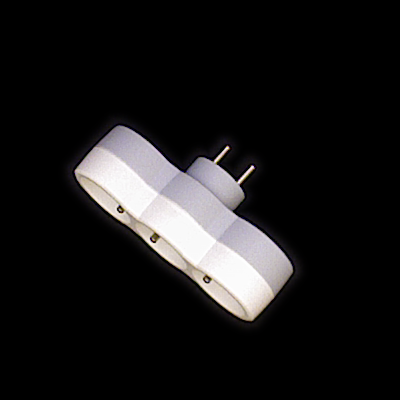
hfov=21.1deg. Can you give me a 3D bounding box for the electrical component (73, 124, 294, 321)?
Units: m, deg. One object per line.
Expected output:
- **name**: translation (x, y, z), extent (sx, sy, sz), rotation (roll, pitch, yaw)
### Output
- **electrical component**: translation (0.000, 0.000, 0.631), extent (0.138, 0.074, 0.052), rotation (38, -15, 12)
